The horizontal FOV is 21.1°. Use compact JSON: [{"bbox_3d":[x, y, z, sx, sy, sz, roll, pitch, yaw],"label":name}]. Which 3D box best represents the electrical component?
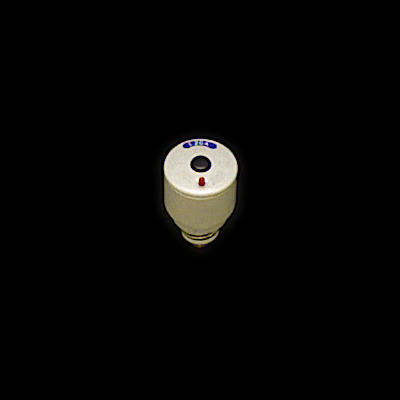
[{"bbox_3d":[0.000,0.000,0.619,0.040,0.040,0.078,0,-37,-1],"label":"electrical component"}]
